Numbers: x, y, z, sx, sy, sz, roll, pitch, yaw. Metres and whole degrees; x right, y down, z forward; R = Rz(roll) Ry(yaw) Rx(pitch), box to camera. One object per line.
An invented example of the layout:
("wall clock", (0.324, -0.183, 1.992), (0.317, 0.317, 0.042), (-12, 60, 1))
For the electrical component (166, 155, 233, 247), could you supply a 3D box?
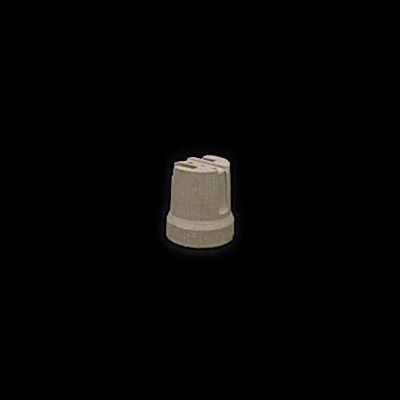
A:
("electrical component", (0.000, 0.000, 0.643), (0.040, 0.046, 0.040), (2, 21, 0))
